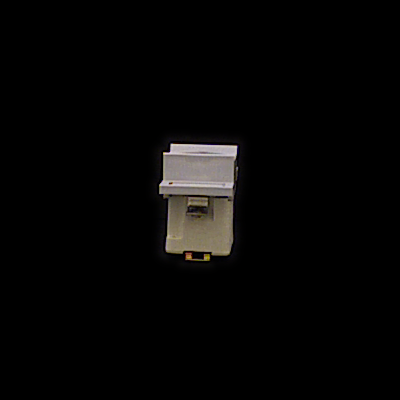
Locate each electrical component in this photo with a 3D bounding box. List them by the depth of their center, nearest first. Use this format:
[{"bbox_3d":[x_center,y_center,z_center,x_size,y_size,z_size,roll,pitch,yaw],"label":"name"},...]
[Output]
[{"bbox_3d":[0.000,0.000,0.646,0.042,0.064,0.080,1,11,5],"label":"electrical component"}]
